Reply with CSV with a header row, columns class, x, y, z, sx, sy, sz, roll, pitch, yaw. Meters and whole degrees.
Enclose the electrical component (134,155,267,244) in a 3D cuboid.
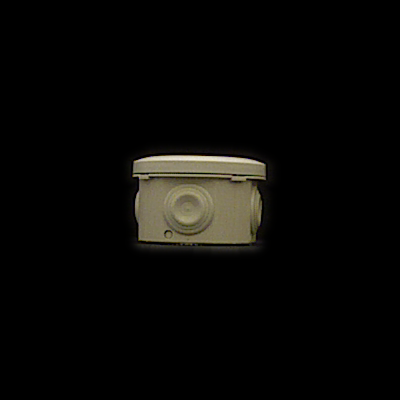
class,x,y,z,sx,sy,sz,roll,pitch,yaw
electrical component,0.000,0.000,0.647,0.080,0.051,0.080,1,0,0
